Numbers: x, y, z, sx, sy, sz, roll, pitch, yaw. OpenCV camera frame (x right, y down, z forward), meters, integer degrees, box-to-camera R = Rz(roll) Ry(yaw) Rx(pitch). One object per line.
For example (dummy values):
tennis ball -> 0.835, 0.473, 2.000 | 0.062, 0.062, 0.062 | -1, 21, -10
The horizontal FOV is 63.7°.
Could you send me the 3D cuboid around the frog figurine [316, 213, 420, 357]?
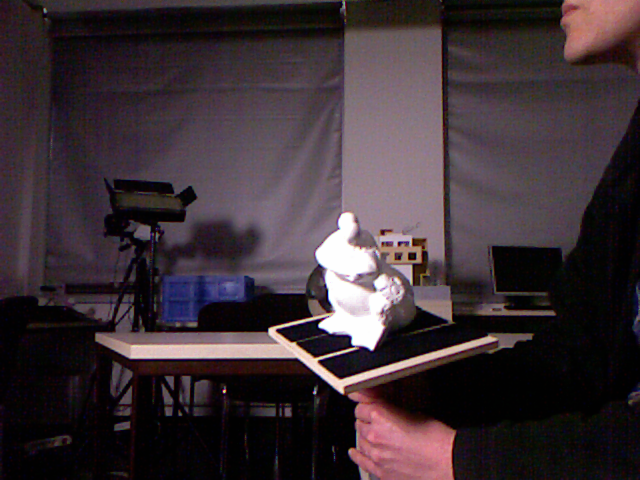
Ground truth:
frog figurine -> 0.053, 0.042, 0.612 | 0.123, 0.158, 0.139 | -8, 14, -17
